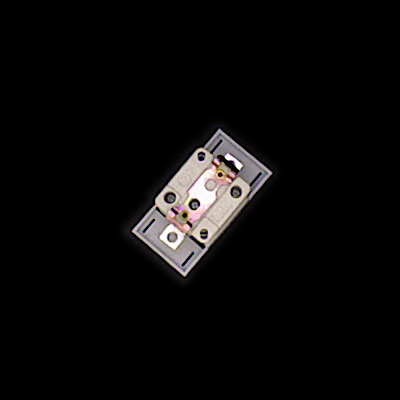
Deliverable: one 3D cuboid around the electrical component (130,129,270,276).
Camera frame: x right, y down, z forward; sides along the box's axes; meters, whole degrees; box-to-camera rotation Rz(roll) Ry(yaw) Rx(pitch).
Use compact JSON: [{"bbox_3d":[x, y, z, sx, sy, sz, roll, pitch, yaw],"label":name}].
[{"bbox_3d":[0.000,0.000,0.626,0.042,0.081,0.063,39,-5,5],"label":"electrical component"}]
